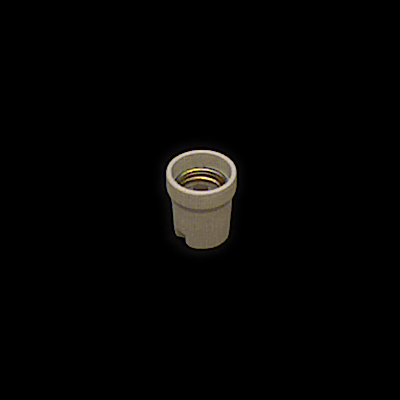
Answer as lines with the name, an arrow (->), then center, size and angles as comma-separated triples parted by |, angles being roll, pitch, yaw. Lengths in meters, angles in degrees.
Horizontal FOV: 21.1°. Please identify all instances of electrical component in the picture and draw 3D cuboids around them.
electrical component -> 0.000, 0.000, 0.633 | 0.040, 0.047, 0.039 | 1, 42, 0
